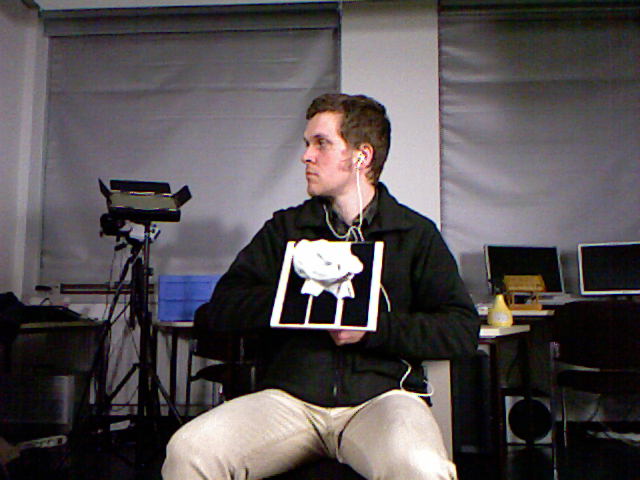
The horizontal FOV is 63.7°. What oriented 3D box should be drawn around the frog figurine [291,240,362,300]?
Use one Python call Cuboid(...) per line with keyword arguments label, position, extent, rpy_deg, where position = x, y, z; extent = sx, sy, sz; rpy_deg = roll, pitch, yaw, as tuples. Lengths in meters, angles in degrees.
Cuboid(label="frog figurine", position=(0.007, 0.037, 0.959), extent=(0.138, 0.125, 0.156), rpy_deg=(20, -30, 23))
